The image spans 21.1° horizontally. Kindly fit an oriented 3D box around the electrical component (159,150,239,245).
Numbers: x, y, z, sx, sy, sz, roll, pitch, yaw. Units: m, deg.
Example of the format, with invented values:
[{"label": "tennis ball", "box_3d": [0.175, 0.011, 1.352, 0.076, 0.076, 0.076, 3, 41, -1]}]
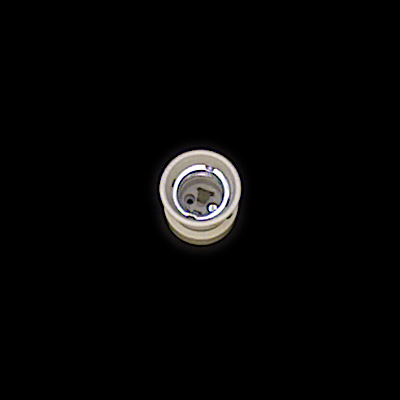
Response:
[{"label": "electrical component", "box_3d": [0.000, 0.000, 0.627, 0.045, 0.045, 0.055, 0, -16, 1]}]
